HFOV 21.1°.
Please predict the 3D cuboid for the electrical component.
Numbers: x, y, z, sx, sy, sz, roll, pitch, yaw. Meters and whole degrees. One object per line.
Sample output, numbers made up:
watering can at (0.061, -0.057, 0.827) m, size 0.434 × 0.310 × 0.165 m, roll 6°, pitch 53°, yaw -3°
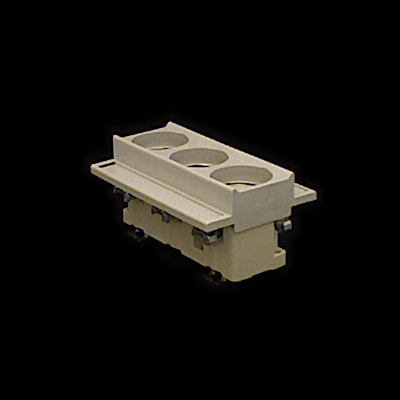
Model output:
electrical component at (0.000, 0.000, 0.650) m, size 0.078 × 0.064 × 0.120 m, roll -16°, pitch 27°, yaw -33°
